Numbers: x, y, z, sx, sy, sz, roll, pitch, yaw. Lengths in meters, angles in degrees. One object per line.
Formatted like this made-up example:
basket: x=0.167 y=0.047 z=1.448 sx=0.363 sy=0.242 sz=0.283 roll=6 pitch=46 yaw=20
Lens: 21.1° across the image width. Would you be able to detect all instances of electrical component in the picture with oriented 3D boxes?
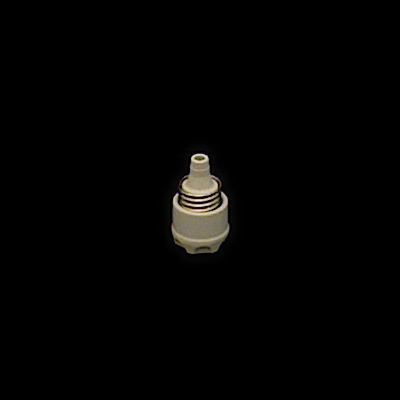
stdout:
electrical component: x=0.000 y=0.000 z=0.647 sx=0.035 sy=0.062 sz=0.034 roll=-1 pitch=33 yaw=1
